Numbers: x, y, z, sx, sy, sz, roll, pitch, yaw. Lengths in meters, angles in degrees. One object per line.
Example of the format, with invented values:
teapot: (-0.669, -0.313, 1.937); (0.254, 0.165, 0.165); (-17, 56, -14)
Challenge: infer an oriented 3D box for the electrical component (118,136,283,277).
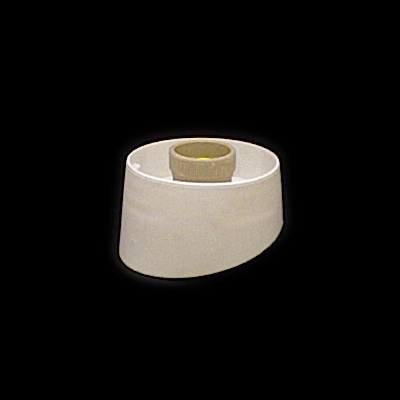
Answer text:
electrical component: (0.000, 0.000, 0.639); (0.099, 0.065, 0.097); (1, 21, 0)
